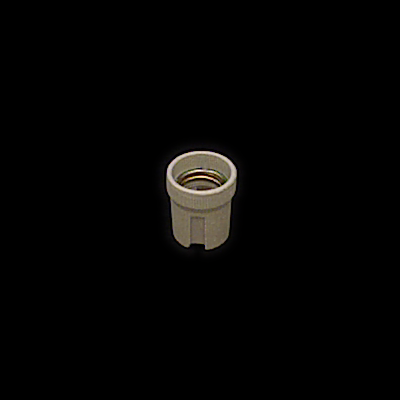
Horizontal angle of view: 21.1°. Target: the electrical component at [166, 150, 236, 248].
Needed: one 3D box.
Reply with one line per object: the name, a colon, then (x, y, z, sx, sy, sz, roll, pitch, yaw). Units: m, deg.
electrical component: (0.000, 0.000, 0.635, 0.040, 0.047, 0.039, 1, 42, 0)
